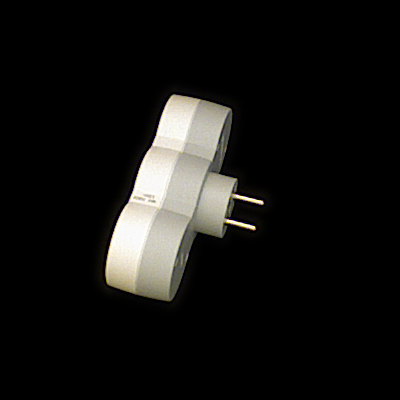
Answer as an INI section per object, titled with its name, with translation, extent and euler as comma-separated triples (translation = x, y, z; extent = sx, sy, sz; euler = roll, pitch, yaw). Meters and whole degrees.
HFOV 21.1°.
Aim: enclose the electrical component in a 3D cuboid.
[electrical component]
translation = 0.000, 0.000, 0.637
extent = 0.073, 0.138, 0.052
euler = 14, -36, 8
